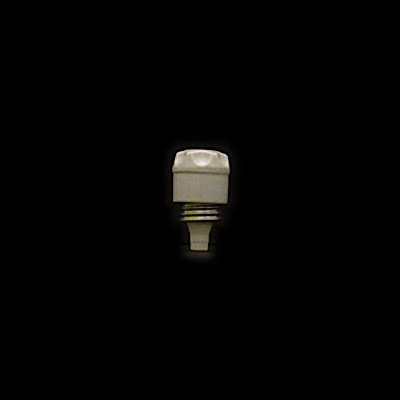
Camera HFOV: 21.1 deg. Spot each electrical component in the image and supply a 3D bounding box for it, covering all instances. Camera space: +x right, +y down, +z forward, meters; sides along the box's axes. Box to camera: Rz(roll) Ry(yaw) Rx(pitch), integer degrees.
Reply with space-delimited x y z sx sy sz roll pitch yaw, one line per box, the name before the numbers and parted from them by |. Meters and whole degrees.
electrical component | 0.000 0.000 0.658 0.035 0.061 0.035 2 2 0
